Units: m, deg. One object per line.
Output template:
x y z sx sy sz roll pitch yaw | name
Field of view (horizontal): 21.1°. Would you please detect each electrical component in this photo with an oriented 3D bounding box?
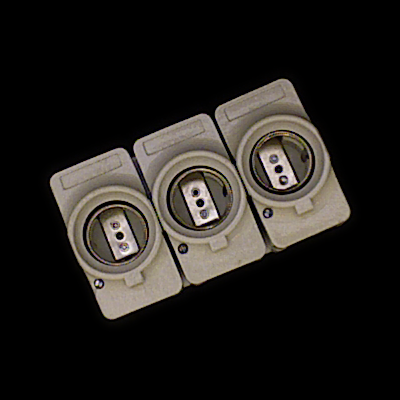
0.000 0.000 0.632 0.150 0.089 0.061 -23 -5 -2 | electrical component
